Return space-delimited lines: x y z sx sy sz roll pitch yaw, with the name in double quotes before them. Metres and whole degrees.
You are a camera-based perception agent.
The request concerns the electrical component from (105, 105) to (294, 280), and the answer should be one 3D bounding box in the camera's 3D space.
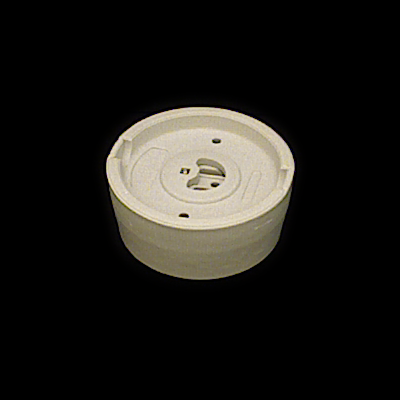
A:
"electrical component" 0.000 0.000 0.636 0.108 0.061 0.107 1 43 0
